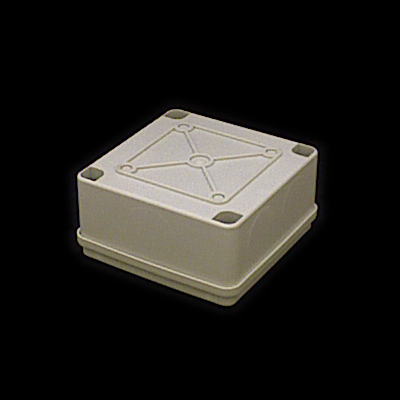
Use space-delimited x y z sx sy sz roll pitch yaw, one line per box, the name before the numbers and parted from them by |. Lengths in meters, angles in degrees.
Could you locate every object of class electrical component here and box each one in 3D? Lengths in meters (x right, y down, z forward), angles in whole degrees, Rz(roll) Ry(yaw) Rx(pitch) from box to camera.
electrical component | 0.000 0.000 0.633 0.108 0.057 0.108 18 36 26
